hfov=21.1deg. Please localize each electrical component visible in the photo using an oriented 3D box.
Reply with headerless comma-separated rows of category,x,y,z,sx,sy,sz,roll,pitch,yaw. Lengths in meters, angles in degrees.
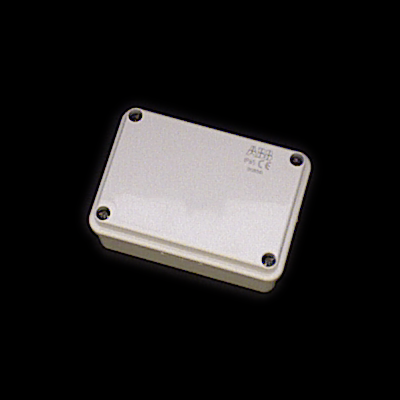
electrical component,0.000,0.000,0.628,0.113,0.078,0.057,15,-16,5
